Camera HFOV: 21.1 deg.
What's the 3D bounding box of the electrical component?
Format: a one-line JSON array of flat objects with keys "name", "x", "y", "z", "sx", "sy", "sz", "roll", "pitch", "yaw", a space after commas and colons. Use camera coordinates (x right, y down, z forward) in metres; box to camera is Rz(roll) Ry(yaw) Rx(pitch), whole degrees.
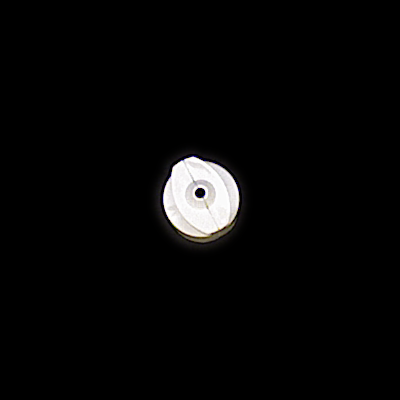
[{"name": "electrical component", "x": 0.000, "y": 0.000, "z": 0.616, "sx": 0.043, "sy": 0.043, "sz": 0.080, "roll": 0, "pitch": -6, "yaw": 1}]
